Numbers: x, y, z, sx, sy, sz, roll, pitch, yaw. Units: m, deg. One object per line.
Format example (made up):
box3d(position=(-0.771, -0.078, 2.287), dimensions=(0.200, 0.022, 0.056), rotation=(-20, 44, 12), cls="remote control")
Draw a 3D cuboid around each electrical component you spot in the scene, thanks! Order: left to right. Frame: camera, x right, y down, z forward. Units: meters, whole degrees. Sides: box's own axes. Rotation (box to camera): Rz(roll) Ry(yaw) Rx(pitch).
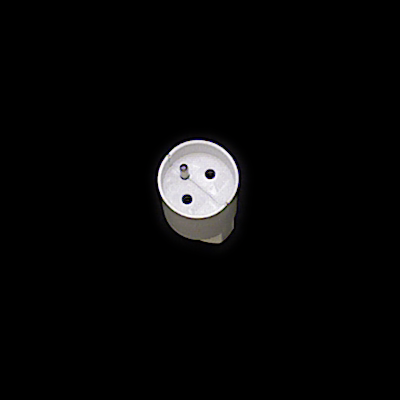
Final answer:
box3d(position=(0.000, 0.000, 0.615), dimensions=(0.043, 0.043, 0.080), rotation=(0, -17, 0), cls="electrical component")
